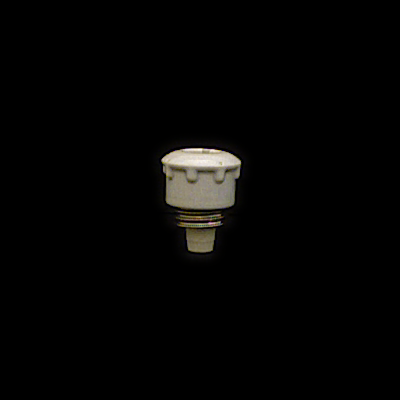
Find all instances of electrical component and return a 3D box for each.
[{"bbox_3d":[0.000,0.000,0.652,0.048,0.062,0.048,1,11,0],"label":"electrical component"}]
